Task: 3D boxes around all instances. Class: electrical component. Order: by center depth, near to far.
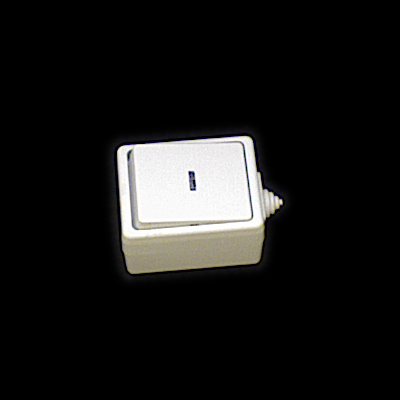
[{"bbox_3d":[0.000,0.000,0.626,0.096,0.062,0.061,-5,-27,-3],"label":"electrical component"}]
